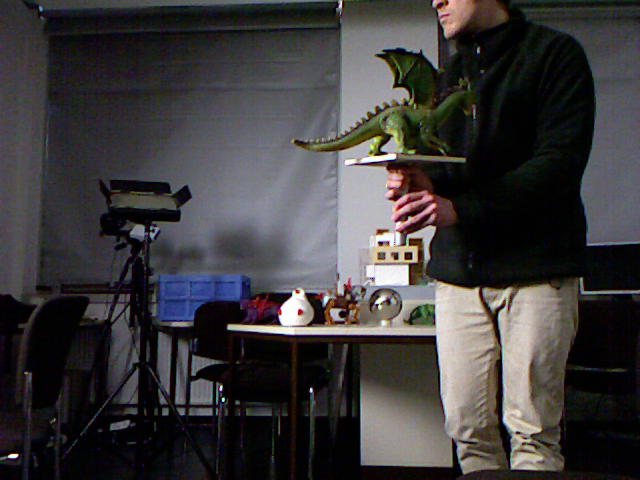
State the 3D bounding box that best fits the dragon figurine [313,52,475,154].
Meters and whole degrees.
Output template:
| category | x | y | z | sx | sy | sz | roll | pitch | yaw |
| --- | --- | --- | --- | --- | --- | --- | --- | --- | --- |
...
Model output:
| category | x | y | z | sx | sy | sz | roll | pitch | yaw |
| --- | --- | --- | --- | --- | --- | --- | --- | --- | --- |
| dragon figurine | 0.191 | -0.321 | 1.227 | 0.411 | 0.241 | 0.123 | 0 | 10 | -16 |
